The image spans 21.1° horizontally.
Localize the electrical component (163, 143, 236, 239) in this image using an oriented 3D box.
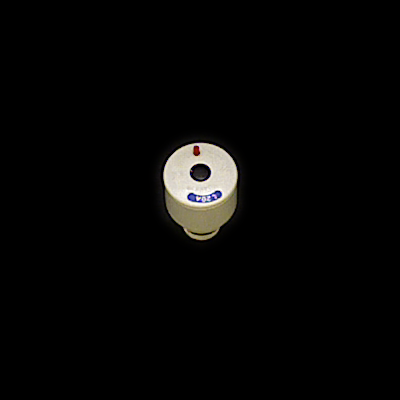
[{"bbox_3d":[0.000,0.000,0.619,0.040,0.040,0.078,0,-28,0],"label":"electrical component"}]
